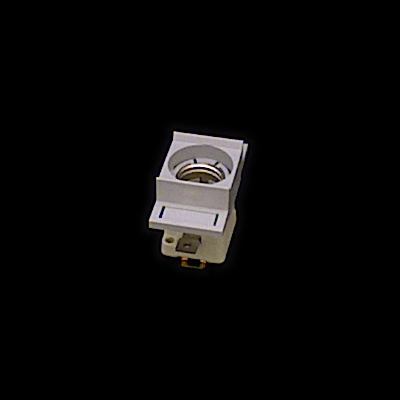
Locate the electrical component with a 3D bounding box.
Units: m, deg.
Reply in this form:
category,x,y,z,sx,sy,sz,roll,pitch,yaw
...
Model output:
category,x,y,z,sx,sy,sz,roll,pitch,yaw
electrical component,0.000,0.000,0.627,0.042,0.064,0.080,9,42,8
